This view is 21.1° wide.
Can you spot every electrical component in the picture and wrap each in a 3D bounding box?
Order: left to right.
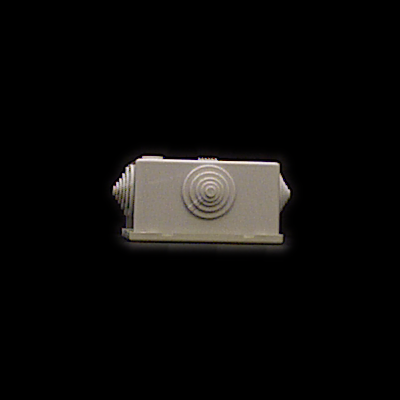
[{"bbox_3d":[0.000,0.000,0.650,0.100,0.048,0.099,1,0,-7],"label":"electrical component"}]
